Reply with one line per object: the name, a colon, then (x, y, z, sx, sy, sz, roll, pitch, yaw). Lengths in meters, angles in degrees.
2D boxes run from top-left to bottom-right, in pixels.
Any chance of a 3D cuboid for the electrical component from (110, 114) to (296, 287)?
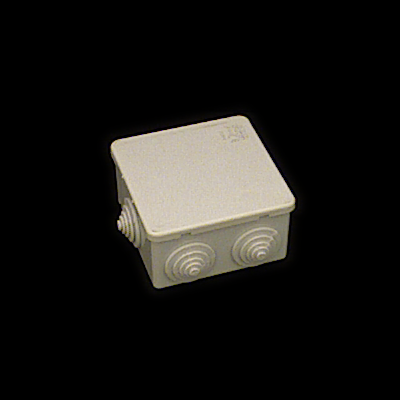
electrical component: (0.000, 0.000, 0.643, 0.100, 0.049, 0.098, -12, 44, -14)
